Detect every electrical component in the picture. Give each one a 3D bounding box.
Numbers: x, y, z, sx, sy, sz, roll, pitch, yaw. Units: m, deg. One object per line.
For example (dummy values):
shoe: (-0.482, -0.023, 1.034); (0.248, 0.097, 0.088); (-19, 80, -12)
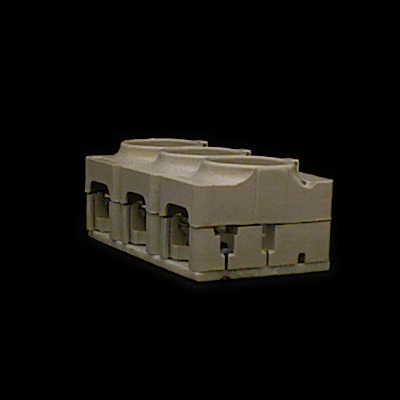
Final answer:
electrical component: (0.000, 0.000, 0.652); (0.089, 0.062, 0.148); (-4, 11, -30)
